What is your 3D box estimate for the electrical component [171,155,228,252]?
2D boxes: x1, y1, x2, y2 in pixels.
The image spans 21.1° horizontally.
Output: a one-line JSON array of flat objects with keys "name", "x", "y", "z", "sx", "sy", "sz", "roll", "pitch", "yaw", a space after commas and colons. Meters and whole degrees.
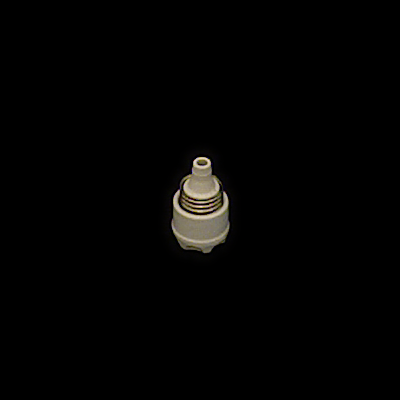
[{"name": "electrical component", "x": 0.000, "y": 0.000, "z": 0.643, "sx": 0.035, "sy": 0.062, "sz": 0.035, "roll": 1, "pitch": 42, "yaw": -1}]
